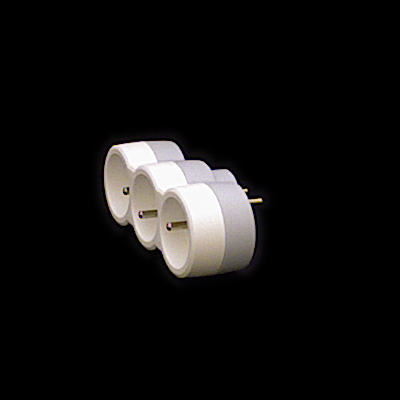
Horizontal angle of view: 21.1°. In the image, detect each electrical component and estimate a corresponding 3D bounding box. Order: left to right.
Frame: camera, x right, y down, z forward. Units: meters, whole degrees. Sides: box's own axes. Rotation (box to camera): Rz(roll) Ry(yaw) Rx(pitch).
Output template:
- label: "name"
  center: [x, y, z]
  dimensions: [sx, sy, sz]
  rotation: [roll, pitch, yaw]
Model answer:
- label: "electrical component"
  center: [0.000, 0.000, 0.643]
  dimensions: [0.074, 0.053, 0.136]
  rotation: [-7, 21, -25]
